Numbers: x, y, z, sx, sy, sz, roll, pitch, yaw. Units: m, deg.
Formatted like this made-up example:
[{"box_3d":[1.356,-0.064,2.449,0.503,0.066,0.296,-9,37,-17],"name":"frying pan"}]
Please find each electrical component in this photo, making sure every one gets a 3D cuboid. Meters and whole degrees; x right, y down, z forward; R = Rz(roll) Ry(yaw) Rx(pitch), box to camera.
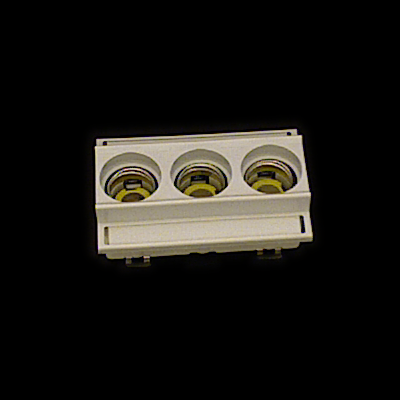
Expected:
[{"box_3d":[0.000,0.000,0.639,0.121,0.078,0.063,-3,-36,-2],"name":"electrical component"}]
